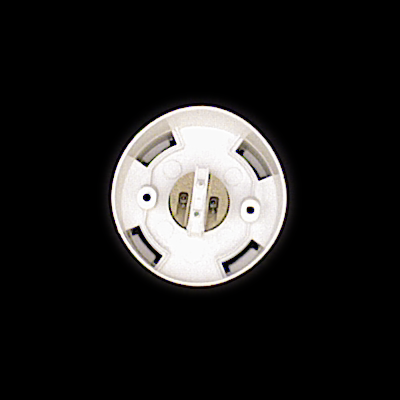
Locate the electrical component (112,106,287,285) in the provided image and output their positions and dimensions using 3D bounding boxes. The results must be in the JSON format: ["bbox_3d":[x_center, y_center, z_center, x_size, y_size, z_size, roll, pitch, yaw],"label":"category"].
[{"bbox_3d":[0.000,0.000,0.624,0.099,0.099,0.064,0,-8,0],"label":"electrical component"}]
